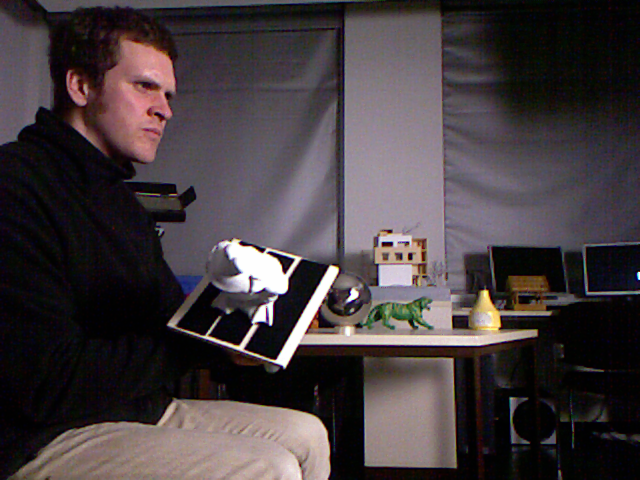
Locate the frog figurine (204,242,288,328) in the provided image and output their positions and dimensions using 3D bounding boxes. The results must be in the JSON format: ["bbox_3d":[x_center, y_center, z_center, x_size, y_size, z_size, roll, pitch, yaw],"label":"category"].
[{"bbox_3d":[-0.116,0.045,0.763,0.139,0.156,0.125,32,56,30],"label":"frog figurine"}]
